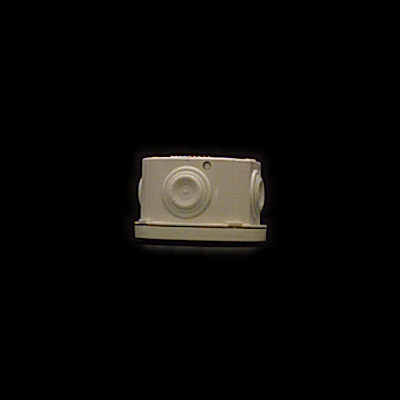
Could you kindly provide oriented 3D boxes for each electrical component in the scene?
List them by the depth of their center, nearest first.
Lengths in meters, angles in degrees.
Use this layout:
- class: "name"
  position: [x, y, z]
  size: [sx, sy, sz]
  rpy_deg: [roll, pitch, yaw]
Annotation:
- class: "electrical component"
  position: [0.000, 0.000, 0.651]
  size: [0.080, 0.051, 0.080]
  rpy_deg: [2, 0, 0]
